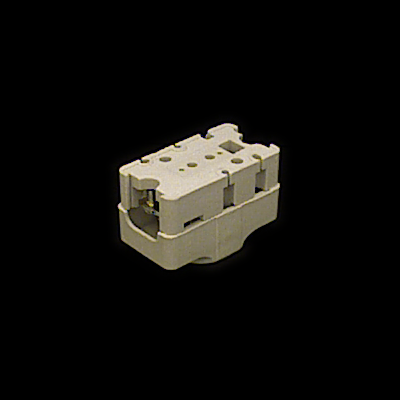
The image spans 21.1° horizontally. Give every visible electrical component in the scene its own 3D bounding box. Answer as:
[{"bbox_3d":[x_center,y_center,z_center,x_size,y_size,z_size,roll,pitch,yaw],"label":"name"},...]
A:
[{"bbox_3d":[0.000,0.000,0.643,0.090,0.056,0.049,-25,40,-36],"label":"electrical component"}]
